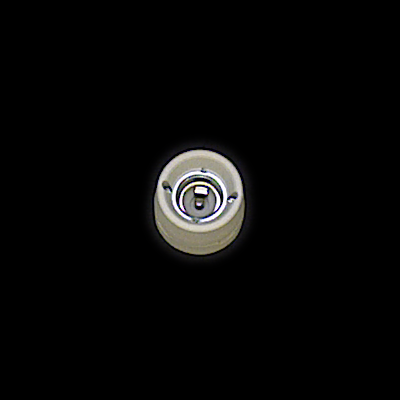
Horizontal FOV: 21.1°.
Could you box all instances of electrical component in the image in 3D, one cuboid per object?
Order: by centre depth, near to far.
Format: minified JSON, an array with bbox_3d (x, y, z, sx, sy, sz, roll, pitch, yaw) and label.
[{"bbox_3d":[0.000,0.000,0.633,0.055,0.056,0.047,0,-16,-1],"label":"electrical component"}]
